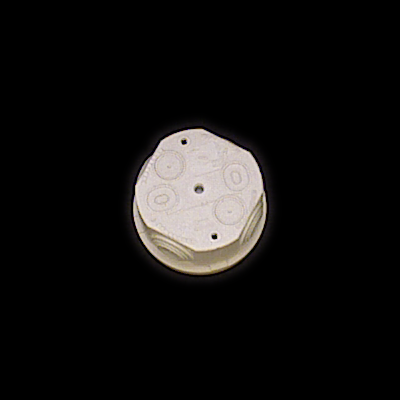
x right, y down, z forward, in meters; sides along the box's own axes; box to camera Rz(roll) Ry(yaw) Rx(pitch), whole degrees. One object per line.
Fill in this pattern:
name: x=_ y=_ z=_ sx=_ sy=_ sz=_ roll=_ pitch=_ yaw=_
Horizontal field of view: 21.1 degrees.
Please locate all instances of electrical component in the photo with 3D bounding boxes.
electrical component: x=0.000 y=0.000 z=0.632 sx=0.080 sy=0.080 sz=0.050 roll=0 pitch=-18 yaw=0
